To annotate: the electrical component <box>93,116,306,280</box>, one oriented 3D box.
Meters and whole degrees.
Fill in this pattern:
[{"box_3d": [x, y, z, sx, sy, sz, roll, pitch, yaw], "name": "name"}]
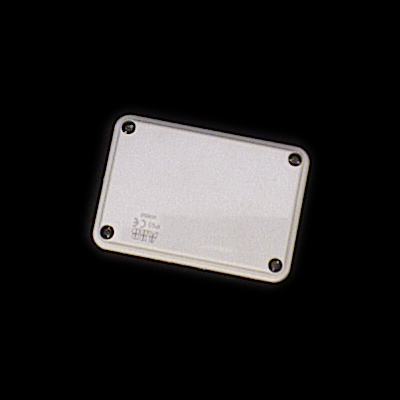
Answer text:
[{"box_3d": [0.000, 0.000, 0.628, 0.113, 0.078, 0.057, 11, -6, 1], "name": "electrical component"}]
